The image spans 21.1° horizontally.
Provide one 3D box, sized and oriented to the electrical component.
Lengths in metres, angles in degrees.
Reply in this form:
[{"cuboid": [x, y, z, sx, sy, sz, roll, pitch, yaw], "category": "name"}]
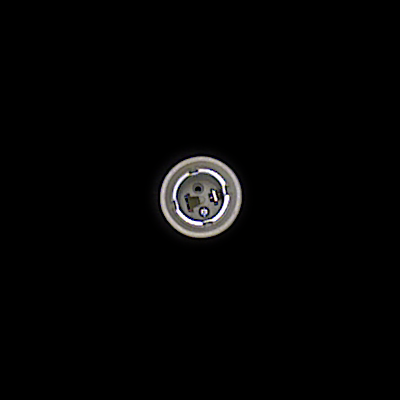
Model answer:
[{"cuboid": [0.000, 0.000, 0.624, 0.044, 0.044, 0.065, 0, -5, 0], "category": "electrical component"}]
